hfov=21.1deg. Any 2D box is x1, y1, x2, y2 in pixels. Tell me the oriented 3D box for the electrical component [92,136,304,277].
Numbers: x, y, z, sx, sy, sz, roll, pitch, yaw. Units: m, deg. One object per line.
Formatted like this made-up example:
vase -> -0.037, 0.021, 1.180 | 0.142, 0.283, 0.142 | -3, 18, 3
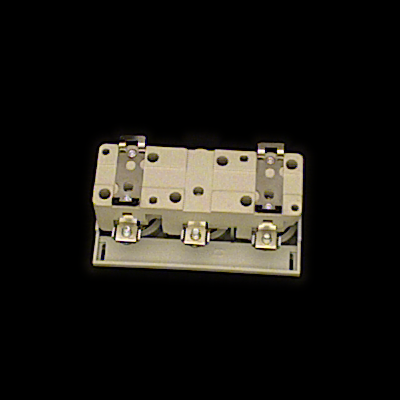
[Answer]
electrical component -> 0.000, 0.000, 0.635 | 0.121, 0.078, 0.063 | 3, -27, 1
